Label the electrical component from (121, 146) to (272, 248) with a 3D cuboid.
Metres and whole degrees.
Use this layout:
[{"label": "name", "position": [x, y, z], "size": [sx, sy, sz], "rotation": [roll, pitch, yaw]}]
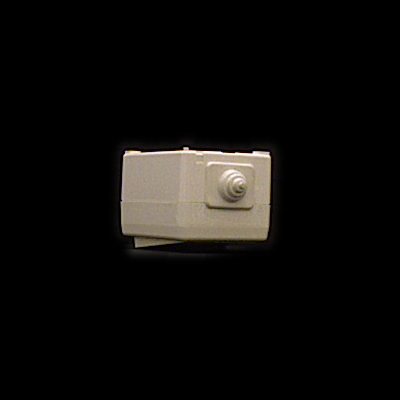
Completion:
[{"label": "electrical component", "position": [0.000, 0.000, 0.647], "size": [0.062, 0.061, 0.096], "rotation": [1, 1, -31]}]
